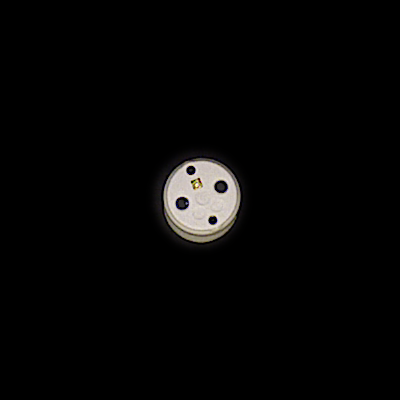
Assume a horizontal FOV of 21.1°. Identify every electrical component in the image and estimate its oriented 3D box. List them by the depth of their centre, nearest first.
[{"bbox_3d":[0.000,0.000,0.630,0.045,0.045,0.055,0,-6,0],"label":"electrical component"}]
